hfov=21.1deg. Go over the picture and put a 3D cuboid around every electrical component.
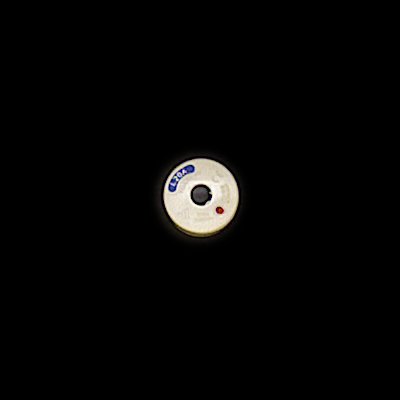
[{"bbox_3d":[0.000,0.000,0.617,0.040,0.040,0.078,0,-6,0],"label":"electrical component"}]
